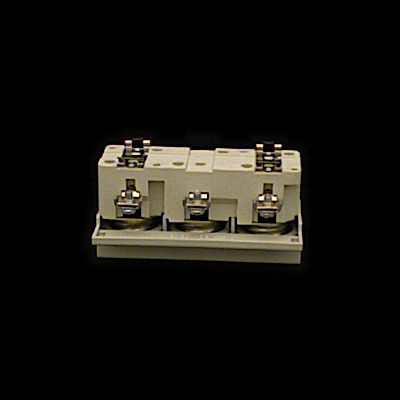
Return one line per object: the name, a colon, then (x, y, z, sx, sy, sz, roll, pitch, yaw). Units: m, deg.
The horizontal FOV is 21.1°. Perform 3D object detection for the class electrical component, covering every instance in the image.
electrical component: (0.000, 0.000, 0.649, 0.121, 0.064, 0.077, 2, 21, 2)
